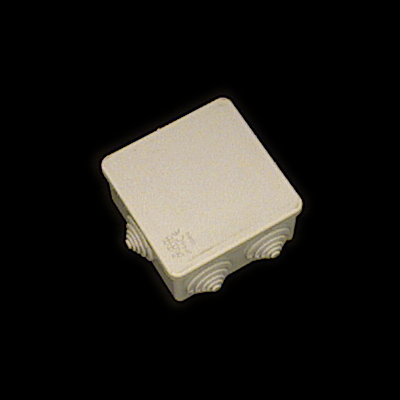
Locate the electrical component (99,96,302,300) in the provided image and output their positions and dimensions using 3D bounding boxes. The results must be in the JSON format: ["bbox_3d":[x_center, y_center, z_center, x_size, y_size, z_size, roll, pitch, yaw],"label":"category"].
[{"bbox_3d":[0.000,0.000,0.639,0.100,0.099,0.048,-28,-23,-13],"label":"electrical component"}]
